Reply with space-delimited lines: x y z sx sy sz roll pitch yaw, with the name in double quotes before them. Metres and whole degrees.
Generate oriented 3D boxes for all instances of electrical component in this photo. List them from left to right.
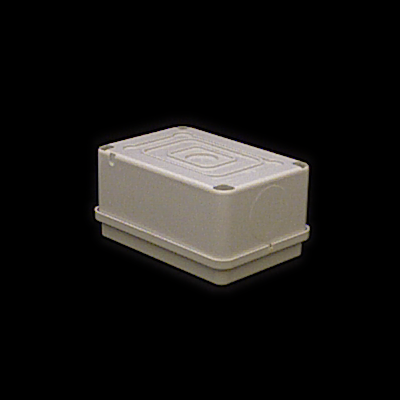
"electrical component" 0.000 0.000 0.639 0.078 0.058 0.112 -18 29 -41
